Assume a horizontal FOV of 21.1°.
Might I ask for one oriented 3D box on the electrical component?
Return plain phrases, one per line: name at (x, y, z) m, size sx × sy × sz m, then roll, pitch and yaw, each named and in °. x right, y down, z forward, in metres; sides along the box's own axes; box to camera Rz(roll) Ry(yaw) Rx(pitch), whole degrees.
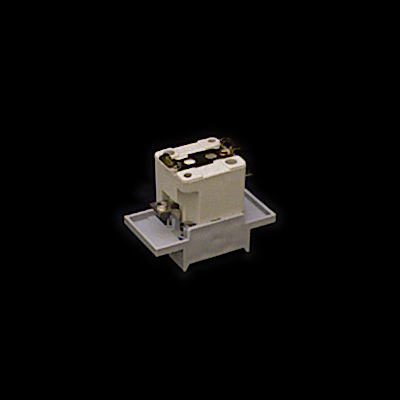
electrical component at (0.000, 0.000, 0.633) m, size 0.081 × 0.064 × 0.041 m, roll -16°, pitch 35°, yaw -26°
